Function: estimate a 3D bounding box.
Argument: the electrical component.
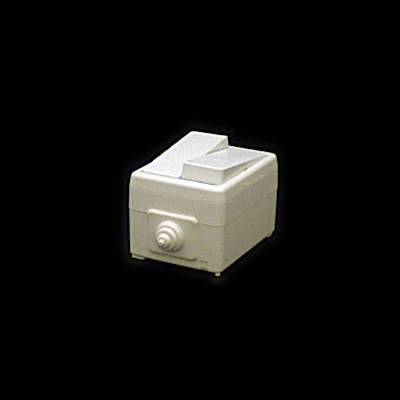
[{"bbox_3d":[0.000,0.000,0.637,0.061,0.061,0.095,11,23,25],"label":"electrical component"}]
